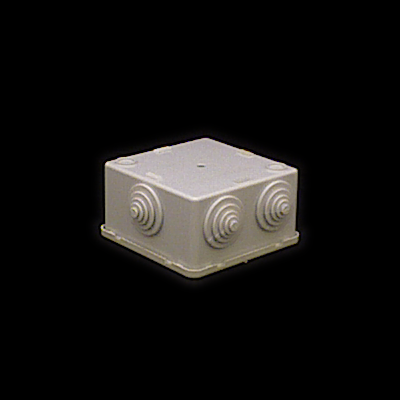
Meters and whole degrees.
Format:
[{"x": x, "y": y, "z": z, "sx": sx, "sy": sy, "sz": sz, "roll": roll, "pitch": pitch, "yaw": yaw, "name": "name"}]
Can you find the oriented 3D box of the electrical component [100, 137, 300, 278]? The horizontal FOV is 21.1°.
[{"x": 0.000, "y": 0.000, "z": 0.642, "sx": 0.099, "sy": 0.049, "sz": 0.099, "roll": -17, "pitch": 27, "yaw": -39, "name": "electrical component"}]
